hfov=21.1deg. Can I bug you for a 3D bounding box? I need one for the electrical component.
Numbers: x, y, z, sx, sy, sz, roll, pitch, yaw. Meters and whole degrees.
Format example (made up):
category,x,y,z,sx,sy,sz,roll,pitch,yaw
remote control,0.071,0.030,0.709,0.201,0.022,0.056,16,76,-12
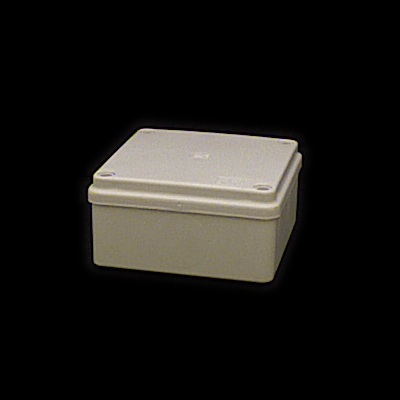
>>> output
category,x,y,z,sx,sy,sz,roll,pitch,yaw
electrical component,0.000,0.000,0.641,0.108,0.057,0.107,5,21,11
